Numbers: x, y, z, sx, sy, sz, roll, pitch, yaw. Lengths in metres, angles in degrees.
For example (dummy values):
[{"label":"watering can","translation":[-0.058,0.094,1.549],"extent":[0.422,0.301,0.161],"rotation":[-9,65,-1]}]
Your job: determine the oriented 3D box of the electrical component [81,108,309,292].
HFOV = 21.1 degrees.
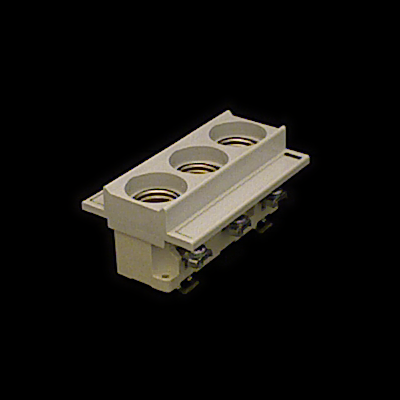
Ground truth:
[{"label":"electrical component","translation":[0.000,0.000,0.646],"extent":[0.078,0.064,0.121],"rotation":[20,37,31]}]
